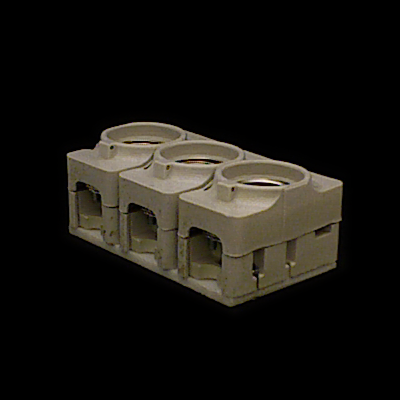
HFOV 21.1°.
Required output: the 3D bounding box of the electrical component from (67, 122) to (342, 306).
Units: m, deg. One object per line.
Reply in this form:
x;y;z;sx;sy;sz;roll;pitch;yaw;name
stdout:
0.000;0.000;0.644;0.089;0.063;0.148;-18;27;-40;electrical component
